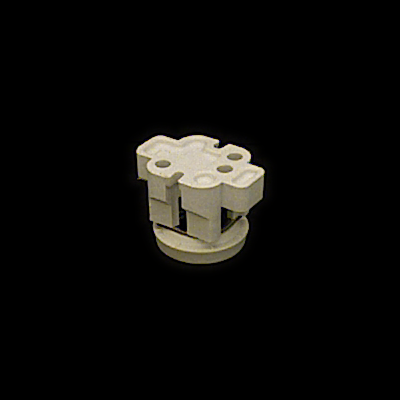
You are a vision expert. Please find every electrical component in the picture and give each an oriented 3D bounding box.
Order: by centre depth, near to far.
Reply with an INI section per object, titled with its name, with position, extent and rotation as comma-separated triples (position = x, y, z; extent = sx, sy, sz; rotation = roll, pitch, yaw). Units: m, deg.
[electrical component]
position = 0.000, 0.000, 0.642
extent = 0.077, 0.057, 0.058
rotation = 18, 37, 28
